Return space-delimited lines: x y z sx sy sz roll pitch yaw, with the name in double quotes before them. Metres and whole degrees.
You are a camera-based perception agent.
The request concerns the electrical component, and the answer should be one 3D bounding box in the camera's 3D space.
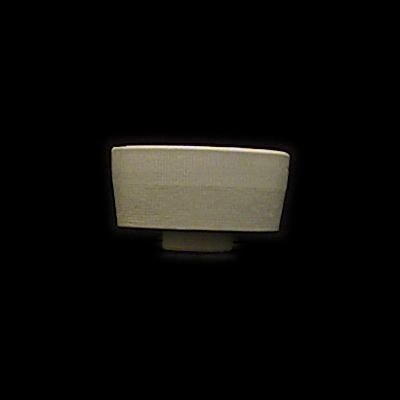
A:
"electrical component" 0.000 0.000 0.653 0.108 0.060 0.108 2 0 1
